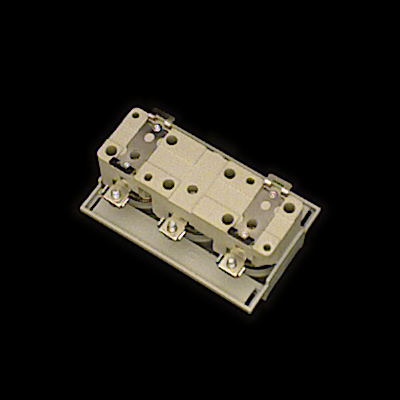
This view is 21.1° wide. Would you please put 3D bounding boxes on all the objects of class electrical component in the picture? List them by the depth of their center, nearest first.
[{"bbox_3d":[0.000,0.000,0.635,0.121,0.079,0.063,30,-24,14],"label":"electrical component"}]
